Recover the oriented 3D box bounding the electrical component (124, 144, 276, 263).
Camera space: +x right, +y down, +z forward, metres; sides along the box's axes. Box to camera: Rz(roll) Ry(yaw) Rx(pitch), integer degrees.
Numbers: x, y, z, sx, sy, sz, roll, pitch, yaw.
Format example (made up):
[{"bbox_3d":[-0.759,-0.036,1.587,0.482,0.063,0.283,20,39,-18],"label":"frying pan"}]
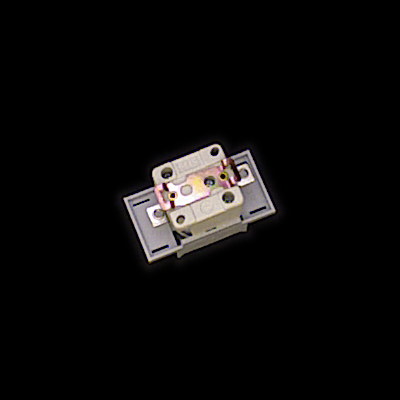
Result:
[{"bbox_3d":[0.000,0.000,0.625,0.081,0.042,0.063,-22,-15,-7],"label":"electrical component"}]
